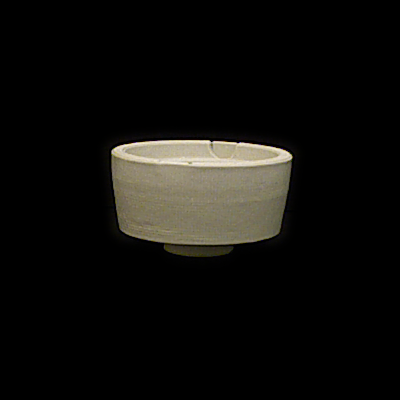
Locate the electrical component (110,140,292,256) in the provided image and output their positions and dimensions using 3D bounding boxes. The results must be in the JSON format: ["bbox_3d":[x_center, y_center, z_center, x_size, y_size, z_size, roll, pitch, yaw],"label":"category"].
[{"bbox_3d":[0.000,0.000,0.647,0.108,0.061,0.107,1,10,0],"label":"electrical component"}]
